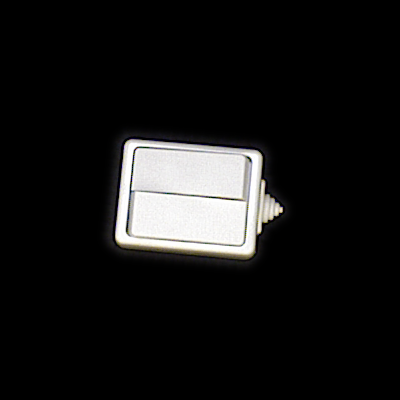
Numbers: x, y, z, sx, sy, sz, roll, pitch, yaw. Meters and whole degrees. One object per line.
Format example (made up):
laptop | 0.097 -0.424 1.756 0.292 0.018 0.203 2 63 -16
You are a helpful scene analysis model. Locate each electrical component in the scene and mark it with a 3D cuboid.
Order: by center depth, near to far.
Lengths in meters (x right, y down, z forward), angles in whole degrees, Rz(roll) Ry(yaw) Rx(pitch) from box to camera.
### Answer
electrical component | 0.000 0.000 0.627 0.096 0.062 0.061 5 -7 1
